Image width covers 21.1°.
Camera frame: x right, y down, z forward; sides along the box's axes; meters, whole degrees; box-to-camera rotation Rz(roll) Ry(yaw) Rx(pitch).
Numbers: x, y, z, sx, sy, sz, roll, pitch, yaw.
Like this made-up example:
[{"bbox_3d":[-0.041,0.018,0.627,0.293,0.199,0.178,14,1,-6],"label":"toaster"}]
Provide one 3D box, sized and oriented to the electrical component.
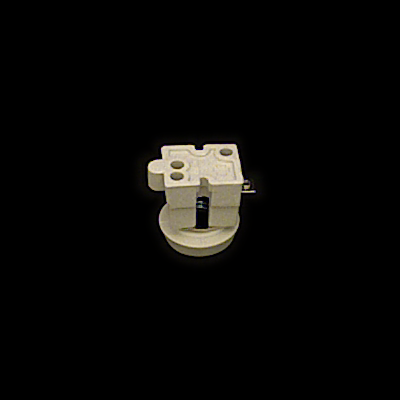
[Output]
[{"bbox_3d":[0.000,0.000,0.640,0.066,0.056,0.048,-3,41,-5],"label":"electrical component"}]
